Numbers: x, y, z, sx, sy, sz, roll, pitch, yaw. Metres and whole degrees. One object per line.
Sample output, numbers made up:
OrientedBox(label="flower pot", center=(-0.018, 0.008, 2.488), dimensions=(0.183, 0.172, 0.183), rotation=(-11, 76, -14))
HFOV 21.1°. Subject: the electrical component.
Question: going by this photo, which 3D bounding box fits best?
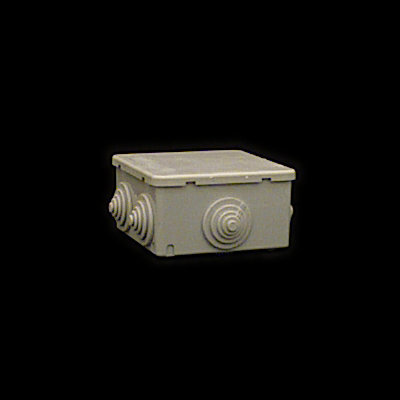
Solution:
OrientedBox(label="electrical component", center=(0.000, 0.000, 0.652), dimensions=(0.100, 0.049, 0.098), rotation=(-3, 12, -21))
